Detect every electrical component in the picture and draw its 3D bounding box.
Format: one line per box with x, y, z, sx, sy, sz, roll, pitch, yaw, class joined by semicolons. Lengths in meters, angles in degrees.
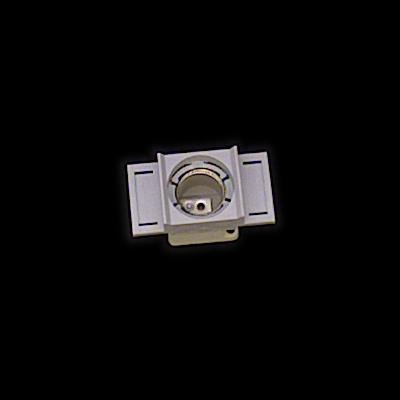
0.000;0.000;0.623;0.081;0.042;0.063;-5;-16;-2;electrical component
